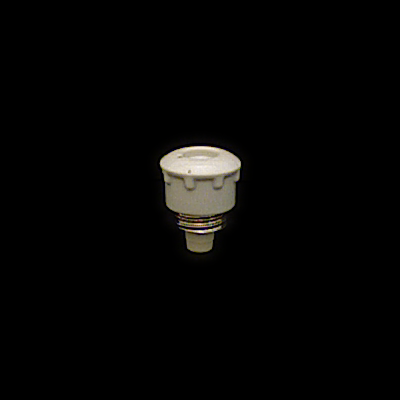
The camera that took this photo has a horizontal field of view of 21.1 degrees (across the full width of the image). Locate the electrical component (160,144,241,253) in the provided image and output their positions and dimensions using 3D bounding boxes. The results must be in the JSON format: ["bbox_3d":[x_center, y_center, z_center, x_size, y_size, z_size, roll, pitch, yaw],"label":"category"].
[{"bbox_3d":[0.000,0.000,0.643,0.048,0.062,0.047,1,21,0],"label":"electrical component"}]
